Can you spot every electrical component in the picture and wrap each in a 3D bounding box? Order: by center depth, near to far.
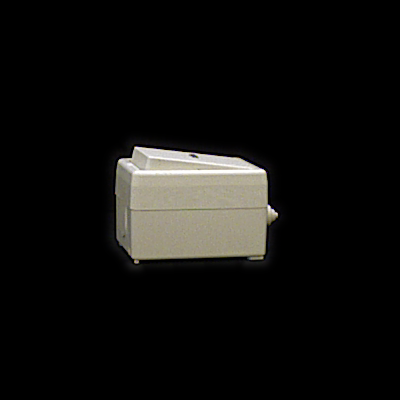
[{"bbox_3d":[0.000,0.000,0.644,0.096,0.061,0.061,-1,11,-14],"label":"electrical component"}]
